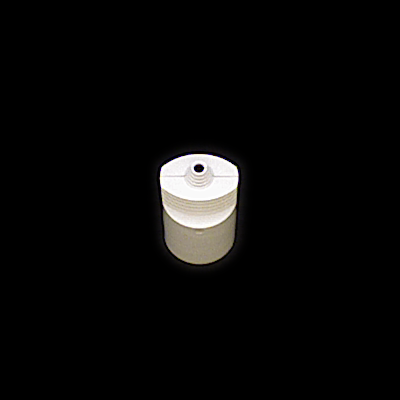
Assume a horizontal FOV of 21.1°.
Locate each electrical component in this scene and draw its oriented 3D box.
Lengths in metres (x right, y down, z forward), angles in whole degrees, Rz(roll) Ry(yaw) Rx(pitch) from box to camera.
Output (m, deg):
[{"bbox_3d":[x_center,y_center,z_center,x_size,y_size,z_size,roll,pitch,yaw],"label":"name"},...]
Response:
[{"bbox_3d":[0.000,0.000,0.617,0.043,0.043,0.081,0,-27,0],"label":"electrical component"}]
